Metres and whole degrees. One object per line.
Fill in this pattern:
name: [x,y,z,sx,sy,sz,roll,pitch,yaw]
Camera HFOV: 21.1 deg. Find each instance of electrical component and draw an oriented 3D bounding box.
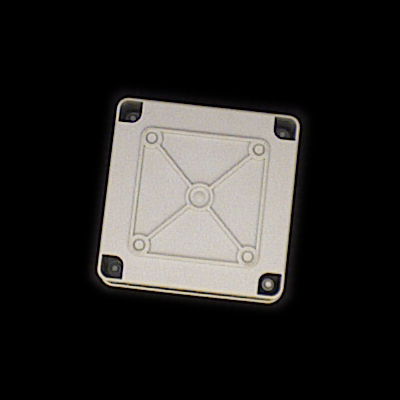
electrical component: [0.000,0.000,0.628,0.109,0.109,0.056,6,-6,0]
